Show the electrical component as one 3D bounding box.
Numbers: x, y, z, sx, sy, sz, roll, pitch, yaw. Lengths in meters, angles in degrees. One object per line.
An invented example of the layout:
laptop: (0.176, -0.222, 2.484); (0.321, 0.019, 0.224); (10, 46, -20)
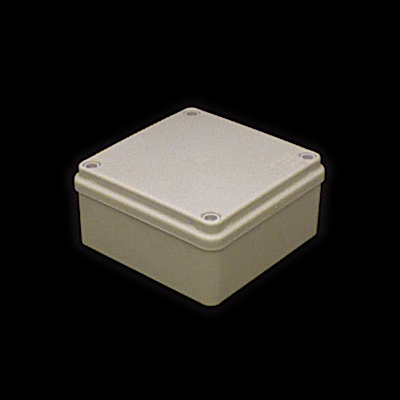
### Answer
electrical component: (0.000, 0.000, 0.635); (0.107, 0.057, 0.108); (24, 38, 33)
